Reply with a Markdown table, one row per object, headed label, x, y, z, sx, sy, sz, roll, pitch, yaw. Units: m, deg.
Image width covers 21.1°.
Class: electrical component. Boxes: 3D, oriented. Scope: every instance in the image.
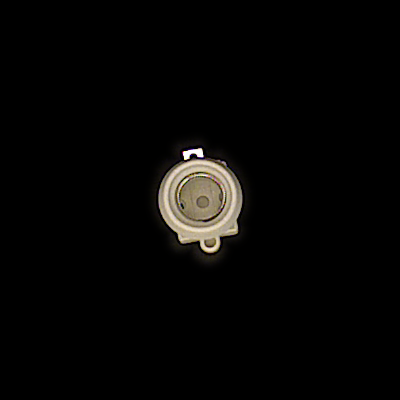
| label | x | y | z | sx | sy | sz | roll | pitch | yaw |
| --- | --- | --- | --- | --- | --- | --- | --- | --- | --- |
| electrical component | 0.000 | 0.000 | 0.639 | 0.048 | 0.066 | 0.055 | -11 | -6 | -2 |
